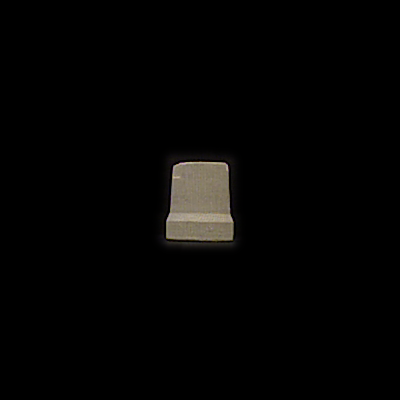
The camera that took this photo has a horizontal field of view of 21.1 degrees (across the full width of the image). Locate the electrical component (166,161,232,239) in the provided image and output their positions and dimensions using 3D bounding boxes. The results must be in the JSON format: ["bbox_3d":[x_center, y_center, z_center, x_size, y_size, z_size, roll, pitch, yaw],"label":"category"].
[{"bbox_3d":[0.000,0.000,0.651,0.040,0.046,0.040,2,1,0],"label":"electrical component"}]
